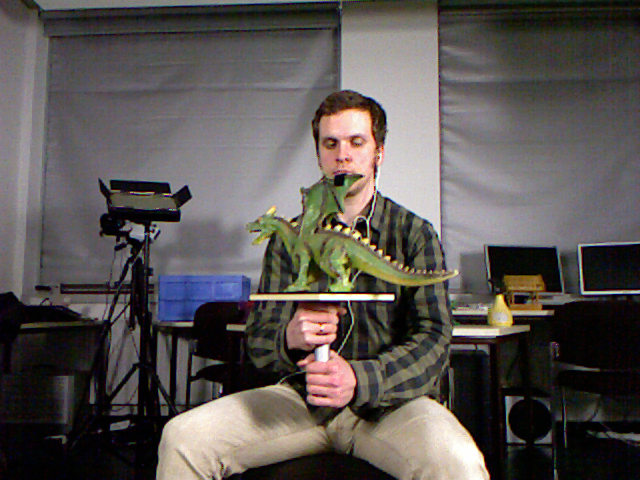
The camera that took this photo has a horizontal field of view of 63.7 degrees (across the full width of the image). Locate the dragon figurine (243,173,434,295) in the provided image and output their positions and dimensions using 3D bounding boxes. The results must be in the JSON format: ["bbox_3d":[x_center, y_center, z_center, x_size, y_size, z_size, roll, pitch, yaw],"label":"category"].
[{"bbox_3d":[0.022,-0.015,1.022,0.409,0.244,0.122,-5,-6,28],"label":"dragon figurine"}]
